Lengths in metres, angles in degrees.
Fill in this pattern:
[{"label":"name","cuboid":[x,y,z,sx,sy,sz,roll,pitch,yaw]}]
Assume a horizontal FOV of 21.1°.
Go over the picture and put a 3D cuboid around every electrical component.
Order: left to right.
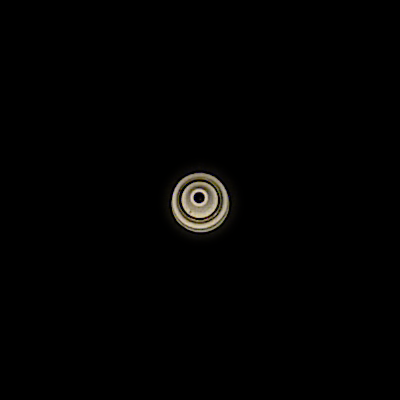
[{"label":"electrical component","cuboid":[0.000,0.000,0.638,0.035,0.035,0.061,0,-4,1]}]
